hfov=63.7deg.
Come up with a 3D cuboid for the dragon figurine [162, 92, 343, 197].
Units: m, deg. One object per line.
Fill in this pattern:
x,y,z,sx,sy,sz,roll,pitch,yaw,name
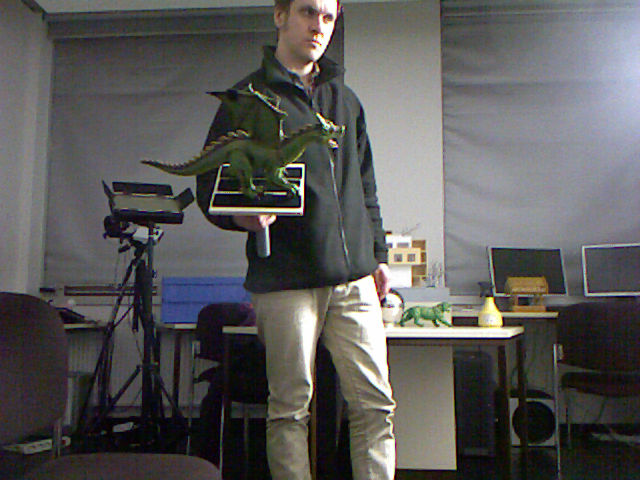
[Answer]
-0.157,-0.216,1.115,0.410,0.237,0.125,3,44,0,dragon figurine
